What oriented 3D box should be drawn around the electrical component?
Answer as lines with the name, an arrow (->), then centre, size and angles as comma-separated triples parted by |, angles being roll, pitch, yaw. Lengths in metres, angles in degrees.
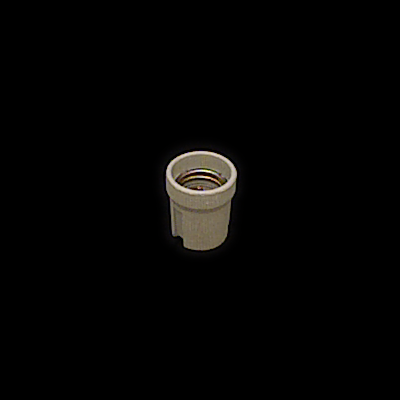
electrical component -> 0.000, 0.000, 0.634 | 0.040, 0.047, 0.039 | 1, 42, 0
